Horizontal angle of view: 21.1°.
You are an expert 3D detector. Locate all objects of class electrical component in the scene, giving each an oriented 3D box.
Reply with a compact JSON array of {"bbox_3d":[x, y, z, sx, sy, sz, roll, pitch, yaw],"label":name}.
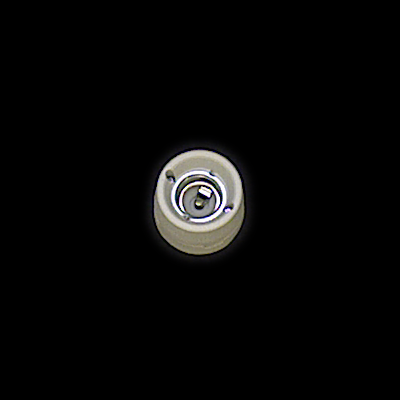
[{"bbox_3d":[0.000,0.000,0.632,0.055,0.056,0.047,0,-16,-1],"label":"electrical component"}]
